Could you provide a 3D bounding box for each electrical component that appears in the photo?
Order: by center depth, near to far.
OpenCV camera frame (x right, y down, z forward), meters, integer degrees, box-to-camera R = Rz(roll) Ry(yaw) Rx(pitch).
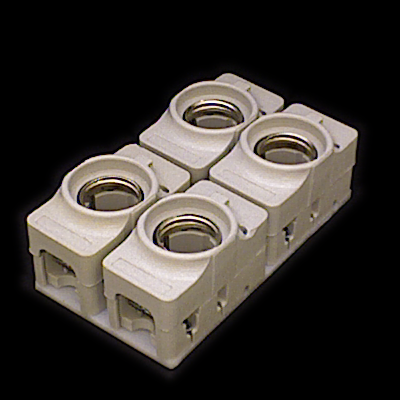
[{"bbox_3d":[0.000,0.000,0.630,0.105,0.061,0.186,28,48,27],"label":"electrical component"}]
